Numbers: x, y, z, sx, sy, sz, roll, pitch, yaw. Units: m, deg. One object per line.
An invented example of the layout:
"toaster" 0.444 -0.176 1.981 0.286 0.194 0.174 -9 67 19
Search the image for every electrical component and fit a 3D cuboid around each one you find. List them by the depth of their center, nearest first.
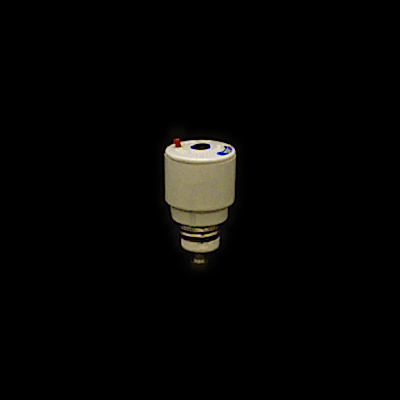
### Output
"electrical component" 0.000 0.000 0.636 0.040 0.079 0.039 0 21 0
